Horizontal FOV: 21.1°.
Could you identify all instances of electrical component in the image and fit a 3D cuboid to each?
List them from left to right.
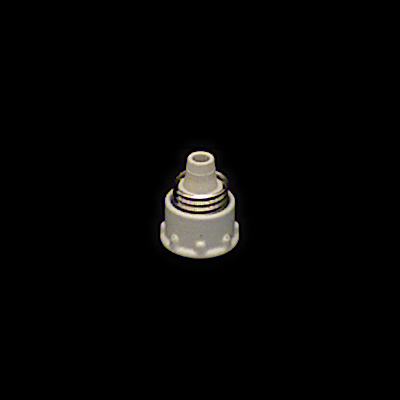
[{"bbox_3d":[0.000,0.000,0.640,0.048,0.063,0.047,1,33,0],"label":"electrical component"}]
